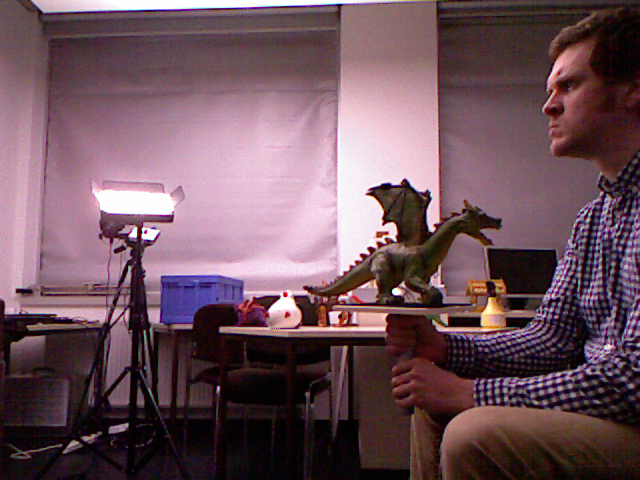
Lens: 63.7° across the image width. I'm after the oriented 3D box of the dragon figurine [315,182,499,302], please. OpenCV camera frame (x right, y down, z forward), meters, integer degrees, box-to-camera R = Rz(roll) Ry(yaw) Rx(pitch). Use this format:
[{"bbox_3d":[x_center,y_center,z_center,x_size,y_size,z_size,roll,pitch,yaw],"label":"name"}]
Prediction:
[{"bbox_3d":[0.146,0.007,1.026,0.409,0.244,0.122,-3,-7,36],"label":"dragon figurine"}]
